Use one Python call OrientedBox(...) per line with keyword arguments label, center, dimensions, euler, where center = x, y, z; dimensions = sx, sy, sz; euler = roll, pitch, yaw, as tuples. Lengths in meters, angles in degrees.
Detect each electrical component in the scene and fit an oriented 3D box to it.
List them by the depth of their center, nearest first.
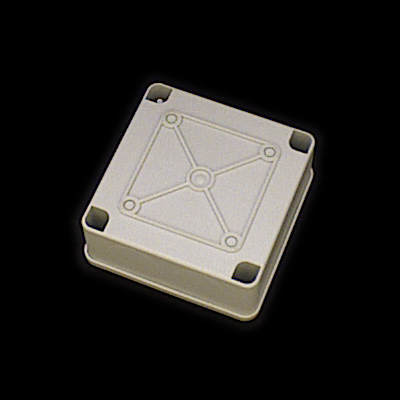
OrientedBox(label="electrical component", center=(0.000, 0.000, 0.628), dimensions=(0.108, 0.109, 0.056), euler=(20, -26, 10))
